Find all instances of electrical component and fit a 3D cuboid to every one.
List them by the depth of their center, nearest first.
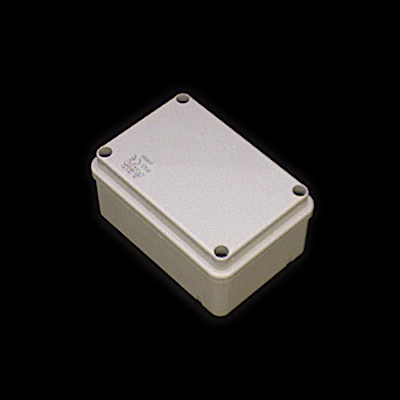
[{"bbox_3d":[0.000,0.000,0.627,0.078,0.057,0.112,-37,61,-25],"label":"electrical component"}]
